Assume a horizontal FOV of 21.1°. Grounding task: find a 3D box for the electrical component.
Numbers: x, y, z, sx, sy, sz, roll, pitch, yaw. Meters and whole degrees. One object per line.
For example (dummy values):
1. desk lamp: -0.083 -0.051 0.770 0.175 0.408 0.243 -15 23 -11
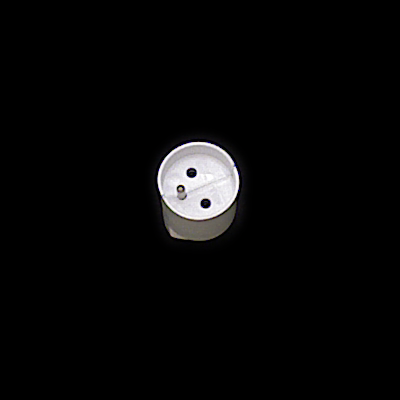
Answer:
1. electrical component: 0.000 0.000 0.614 0.043 0.043 0.080 0 -17 1
